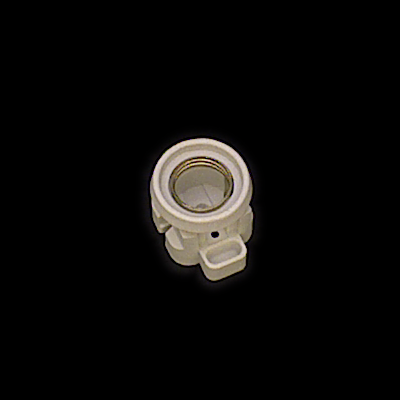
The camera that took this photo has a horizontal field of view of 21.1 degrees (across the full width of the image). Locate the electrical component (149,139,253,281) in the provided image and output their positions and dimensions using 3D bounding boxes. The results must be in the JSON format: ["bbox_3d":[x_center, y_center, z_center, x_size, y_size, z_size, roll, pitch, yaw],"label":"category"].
[{"bbox_3d":[0.000,0.000,0.629,0.058,0.078,0.057,-22,-25,-11],"label":"electrical component"}]
